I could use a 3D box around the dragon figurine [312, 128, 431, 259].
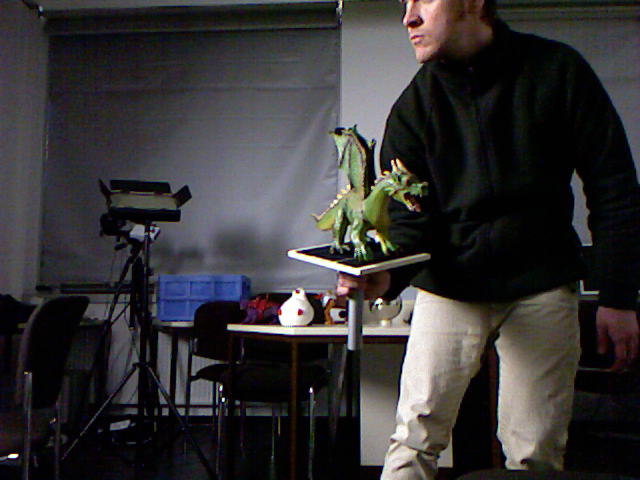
[{"bbox_3d":[0.067,-0.099,1.019,0.123,0.240,0.413,-12,17,-28],"label":"dragon figurine"}]
